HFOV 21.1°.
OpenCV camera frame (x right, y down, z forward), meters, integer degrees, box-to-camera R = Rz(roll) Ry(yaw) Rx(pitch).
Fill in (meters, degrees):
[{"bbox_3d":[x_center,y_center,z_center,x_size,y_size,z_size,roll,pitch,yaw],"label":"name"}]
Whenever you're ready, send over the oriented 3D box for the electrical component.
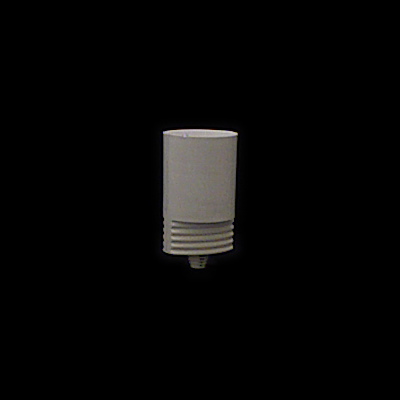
[{"bbox_3d":[0.000,0.000,0.639,0.043,0.081,0.043,0,11,0],"label":"electrical component"}]
